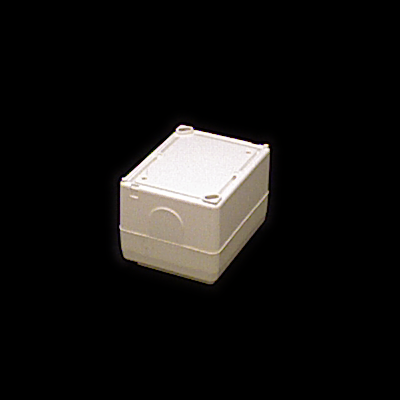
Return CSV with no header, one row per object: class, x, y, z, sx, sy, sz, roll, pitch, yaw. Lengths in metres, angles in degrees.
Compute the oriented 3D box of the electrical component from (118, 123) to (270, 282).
electrical component,0.000,0.000,0.635,0.061,0.061,0.095,14,33,21
